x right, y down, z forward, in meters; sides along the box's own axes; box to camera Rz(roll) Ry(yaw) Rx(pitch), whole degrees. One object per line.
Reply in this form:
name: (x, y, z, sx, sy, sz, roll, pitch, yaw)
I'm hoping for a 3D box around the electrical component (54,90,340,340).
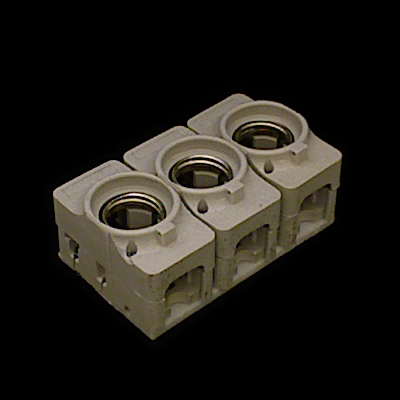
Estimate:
electrical component: (0.000, 0.000, 0.636, 0.149, 0.063, 0.088, -32, 51, -30)
